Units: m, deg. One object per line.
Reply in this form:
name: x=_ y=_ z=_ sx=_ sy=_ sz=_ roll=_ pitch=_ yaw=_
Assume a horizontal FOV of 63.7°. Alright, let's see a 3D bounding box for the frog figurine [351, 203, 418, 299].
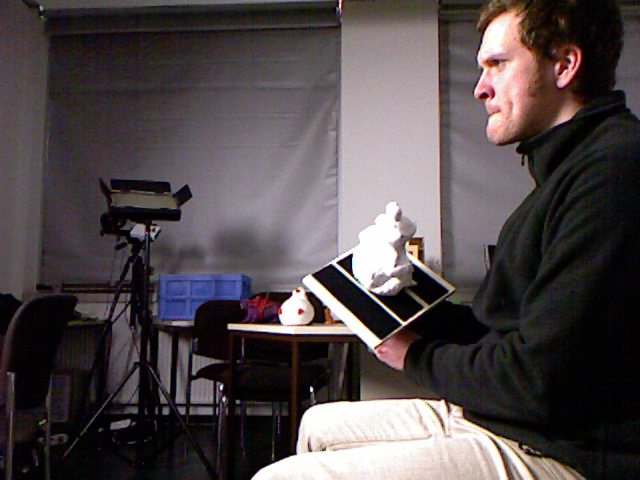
frog figurine: x=0.118 y=0.021 z=0.920 sx=0.123 sy=0.156 sz=0.141 roll=-15 pitch=48 yaw=-12
